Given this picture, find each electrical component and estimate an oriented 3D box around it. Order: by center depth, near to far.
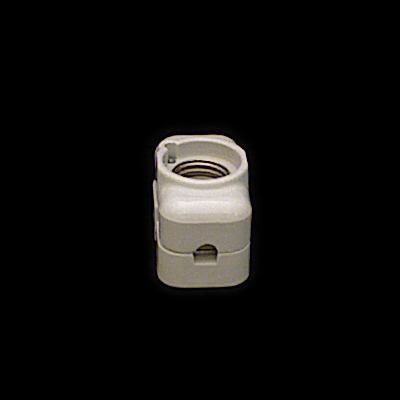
[{"bbox_3d":[0.000,0.000,0.641,0.054,0.060,0.093,-2,32,-5],"label":"electrical component"}]
